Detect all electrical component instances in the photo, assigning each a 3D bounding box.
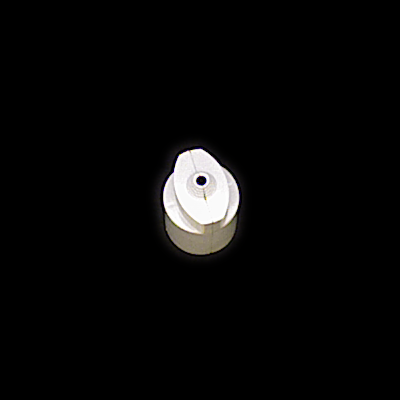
[{"bbox_3d":[0.000,0.000,0.616,0.043,0.043,0.080,0,-17,0],"label":"electrical component"}]
